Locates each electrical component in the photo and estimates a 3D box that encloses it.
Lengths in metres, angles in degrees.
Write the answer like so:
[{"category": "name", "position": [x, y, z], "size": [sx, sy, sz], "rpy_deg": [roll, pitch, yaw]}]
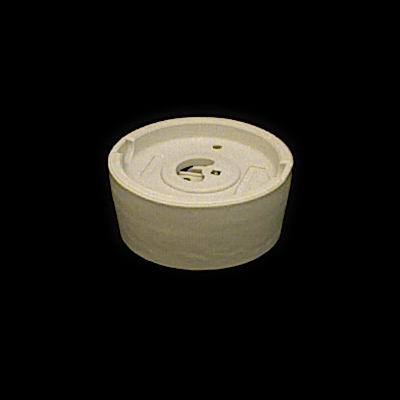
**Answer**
[{"category": "electrical component", "position": [0.000, 0.000, 0.643], "size": [0.108, 0.061, 0.106], "rpy_deg": [1, 32, 0]}]
